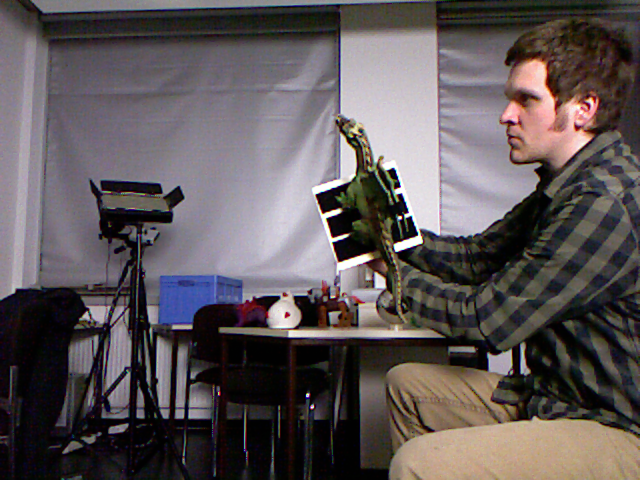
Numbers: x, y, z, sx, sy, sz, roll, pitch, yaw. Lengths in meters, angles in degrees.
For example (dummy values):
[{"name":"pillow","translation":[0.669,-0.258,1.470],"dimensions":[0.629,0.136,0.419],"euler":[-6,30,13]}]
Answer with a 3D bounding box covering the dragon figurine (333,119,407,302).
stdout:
[{"name":"dragon figurine","translation":[0.121,-0.061,1.068],"dimensions":[0.123,0.413,0.243],"euler":[-23,-3,-4]}]
